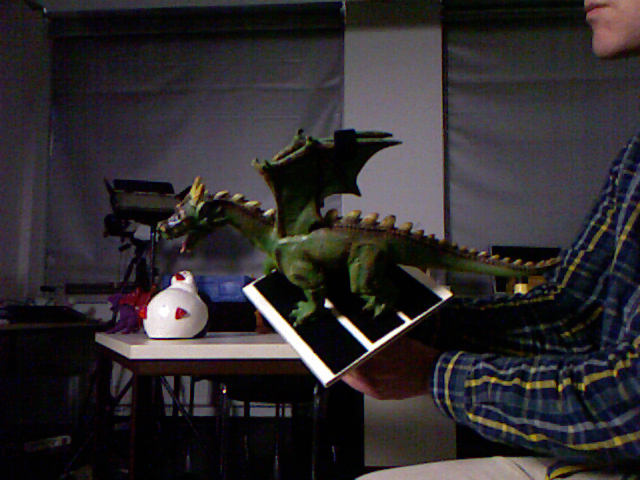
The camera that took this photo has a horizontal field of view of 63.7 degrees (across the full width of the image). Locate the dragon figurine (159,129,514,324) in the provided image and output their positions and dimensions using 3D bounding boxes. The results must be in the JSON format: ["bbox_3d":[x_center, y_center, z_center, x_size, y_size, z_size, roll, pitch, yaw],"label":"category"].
[{"bbox_3d":[0.023,-0.021,0.598,0.411,0.125,0.237,-7,-42,5],"label":"dragon figurine"}]
